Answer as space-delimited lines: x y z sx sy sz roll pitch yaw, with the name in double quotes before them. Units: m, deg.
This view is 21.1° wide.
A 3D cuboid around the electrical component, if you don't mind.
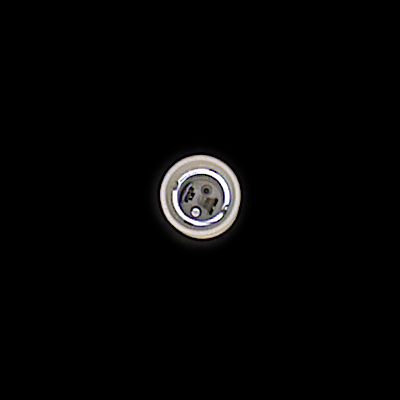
"electrical component" 0.000 0.000 0.629 0.045 0.045 0.055 0 -7 1
